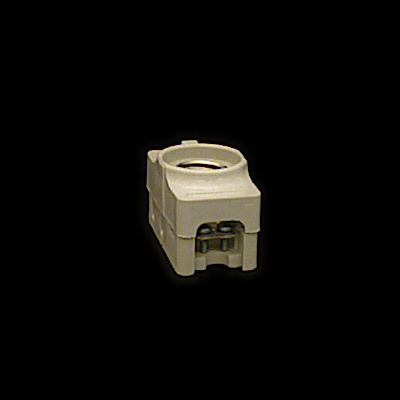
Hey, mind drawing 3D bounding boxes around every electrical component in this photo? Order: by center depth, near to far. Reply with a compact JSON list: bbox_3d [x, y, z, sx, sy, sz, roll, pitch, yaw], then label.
[{"bbox_3d":[0.000,0.000,0.647,0.050,0.056,0.088,-5,23,-14],"label":"electrical component"}]
